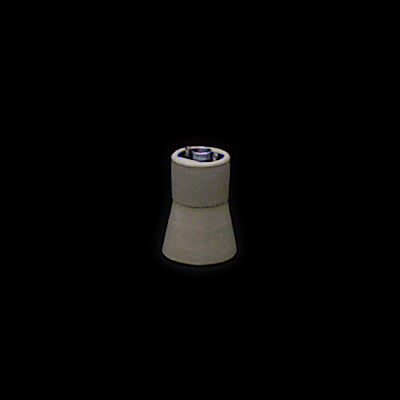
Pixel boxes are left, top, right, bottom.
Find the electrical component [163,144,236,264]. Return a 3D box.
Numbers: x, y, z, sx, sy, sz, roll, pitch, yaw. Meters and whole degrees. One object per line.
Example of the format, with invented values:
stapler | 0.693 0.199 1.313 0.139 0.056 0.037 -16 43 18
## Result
electrical component | 0.000 0.000 0.637 0.044 0.066 0.044 1 22 0
